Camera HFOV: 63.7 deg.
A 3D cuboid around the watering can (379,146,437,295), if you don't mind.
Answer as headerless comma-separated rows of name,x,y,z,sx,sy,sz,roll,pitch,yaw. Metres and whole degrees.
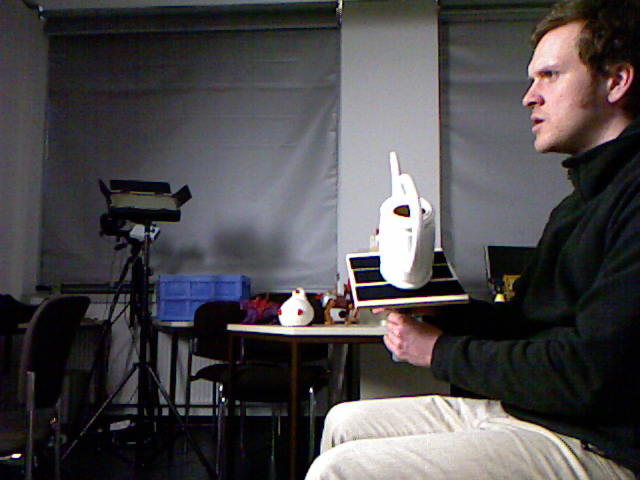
watering can,0.165,-0.040,1.015,0.104,0.220,0.356,-1,29,0
